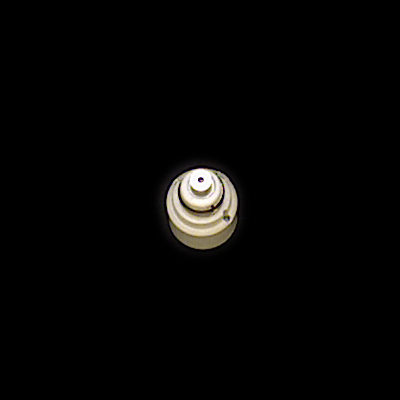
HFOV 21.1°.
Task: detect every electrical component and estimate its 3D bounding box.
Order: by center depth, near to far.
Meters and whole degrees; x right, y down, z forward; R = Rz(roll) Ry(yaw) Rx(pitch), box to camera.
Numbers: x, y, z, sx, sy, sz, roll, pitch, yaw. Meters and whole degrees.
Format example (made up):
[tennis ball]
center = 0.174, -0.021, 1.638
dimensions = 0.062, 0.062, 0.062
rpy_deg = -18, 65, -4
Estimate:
[electrical component]
center = 0.000, 0.000, 0.617
dimensions = 0.040, 0.040, 0.078
rpy_deg = 0, -17, 2
